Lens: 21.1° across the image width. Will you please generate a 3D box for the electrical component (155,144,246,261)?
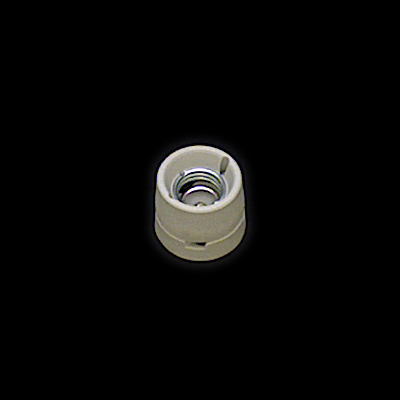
[{"bbox_3d":[0.000,0.000,0.633,0.055,0.055,0.047,0,-37,1],"label":"electrical component"}]
